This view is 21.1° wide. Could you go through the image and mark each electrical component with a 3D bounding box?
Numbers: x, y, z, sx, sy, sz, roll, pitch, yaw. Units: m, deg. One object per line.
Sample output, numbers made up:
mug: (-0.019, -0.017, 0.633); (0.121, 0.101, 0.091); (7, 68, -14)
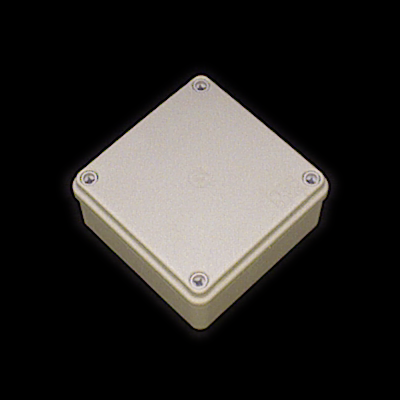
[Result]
electrical component: (0.000, 0.000, 0.629); (0.109, 0.108, 0.056); (-41, -21, -19)
